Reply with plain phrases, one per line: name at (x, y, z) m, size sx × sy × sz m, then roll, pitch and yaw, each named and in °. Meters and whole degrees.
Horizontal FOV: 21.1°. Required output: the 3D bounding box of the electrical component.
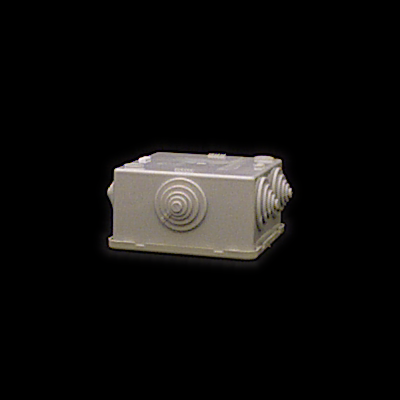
electrical component at (0.000, 0.000, 0.646) m, size 0.099 × 0.049 × 0.099 m, roll 4°, pitch 11°, yaw 15°
